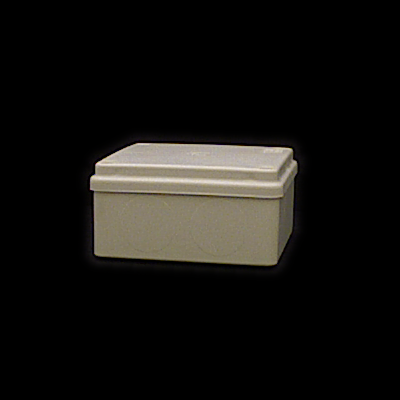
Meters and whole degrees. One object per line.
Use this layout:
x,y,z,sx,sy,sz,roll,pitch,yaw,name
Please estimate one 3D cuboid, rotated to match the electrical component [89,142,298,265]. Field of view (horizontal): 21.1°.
0.000,0.000,0.643,0.108,0.056,0.108,2,10,9,electrical component
